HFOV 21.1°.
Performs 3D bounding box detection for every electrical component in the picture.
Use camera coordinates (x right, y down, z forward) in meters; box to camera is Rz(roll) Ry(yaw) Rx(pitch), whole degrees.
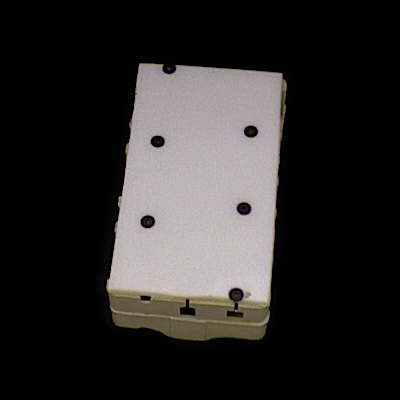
[{"bbox_3d":[0.000,0.000,0.632,0.089,0.149,0.062,5,-27,2],"label":"electrical component"}]
